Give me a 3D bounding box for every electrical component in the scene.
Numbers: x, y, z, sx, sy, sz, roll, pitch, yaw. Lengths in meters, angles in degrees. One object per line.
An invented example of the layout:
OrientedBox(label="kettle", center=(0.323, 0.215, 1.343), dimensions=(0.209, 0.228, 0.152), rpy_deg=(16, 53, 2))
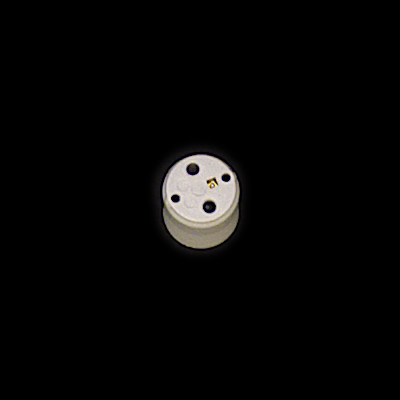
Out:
OrientedBox(label="electrical component", center=(0.000, 0.000, 0.628), dimensions=(0.045, 0.045, 0.055), rpy_deg=(0, -16, 1))
